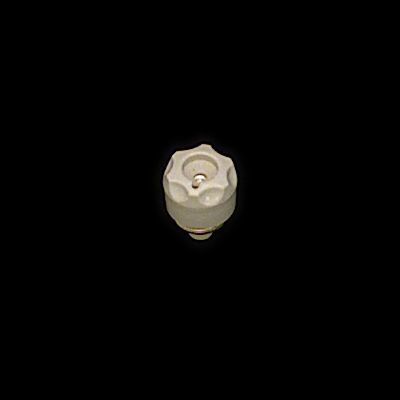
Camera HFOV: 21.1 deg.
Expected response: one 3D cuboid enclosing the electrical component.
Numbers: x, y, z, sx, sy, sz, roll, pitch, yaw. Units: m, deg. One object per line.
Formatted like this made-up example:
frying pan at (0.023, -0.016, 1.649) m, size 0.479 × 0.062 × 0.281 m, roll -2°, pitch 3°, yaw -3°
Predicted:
electrical component at (0.000, 0.000, 0.636) m, size 0.043 × 0.043 × 0.062 m, roll 0°, pitch -38°, yaw 0°
